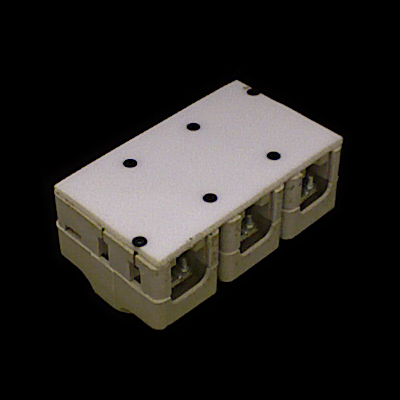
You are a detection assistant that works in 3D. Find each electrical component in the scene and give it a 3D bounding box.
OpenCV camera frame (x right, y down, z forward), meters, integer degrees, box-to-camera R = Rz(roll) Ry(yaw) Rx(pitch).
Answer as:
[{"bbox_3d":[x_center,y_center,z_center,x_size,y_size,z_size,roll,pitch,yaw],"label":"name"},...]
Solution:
[{"bbox_3d":[0.000,0.000,0.634,0.149,0.063,0.088,-33,51,-32],"label":"electrical component"}]
